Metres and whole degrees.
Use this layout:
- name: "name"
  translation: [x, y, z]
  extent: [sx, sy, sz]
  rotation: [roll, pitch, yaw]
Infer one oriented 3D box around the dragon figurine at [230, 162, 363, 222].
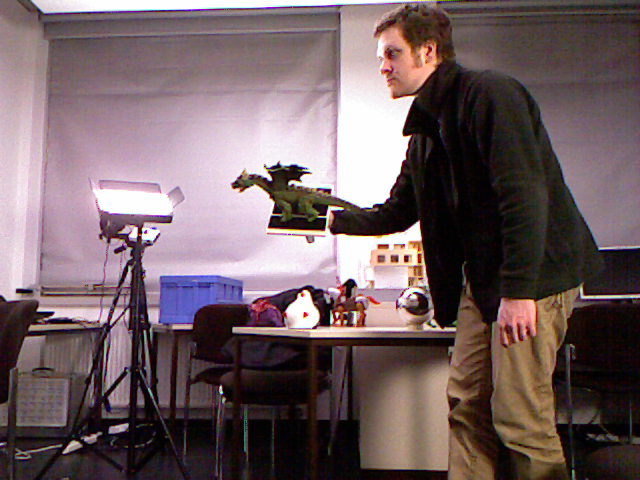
- name: "dragon figurine"
  translation: [-0.077, -0.164, 1.627]
  extent: [0.410, 0.124, 0.238]
  rotation: [1, -23, 10]
